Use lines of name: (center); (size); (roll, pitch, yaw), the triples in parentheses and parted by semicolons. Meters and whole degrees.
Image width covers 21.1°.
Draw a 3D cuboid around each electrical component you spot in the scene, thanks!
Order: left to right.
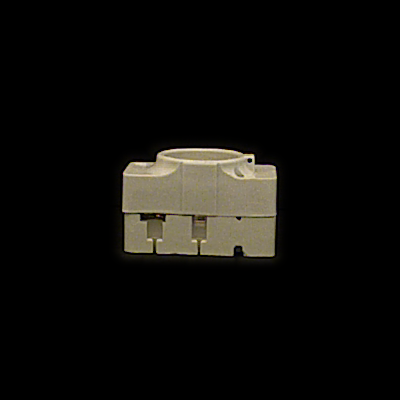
electrical component: (0.000, 0.000, 0.651); (0.089, 0.056, 0.050); (1, 12, 1)
